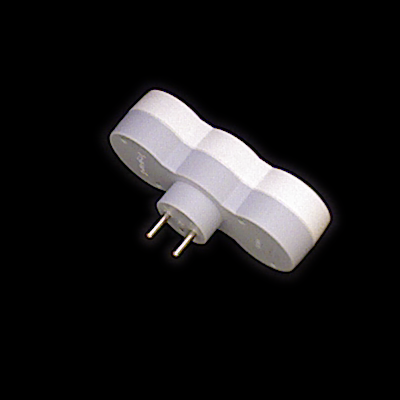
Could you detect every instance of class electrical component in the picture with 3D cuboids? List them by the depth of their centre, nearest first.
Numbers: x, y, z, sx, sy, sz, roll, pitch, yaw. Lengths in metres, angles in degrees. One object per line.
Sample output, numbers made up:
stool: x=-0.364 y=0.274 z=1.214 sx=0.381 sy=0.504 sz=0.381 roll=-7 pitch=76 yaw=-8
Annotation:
electrical component: x=0.000 y=0.000 z=0.630 sx=0.138 sy=0.074 sz=0.052 roll=35 pitch=-20 yaw=15
